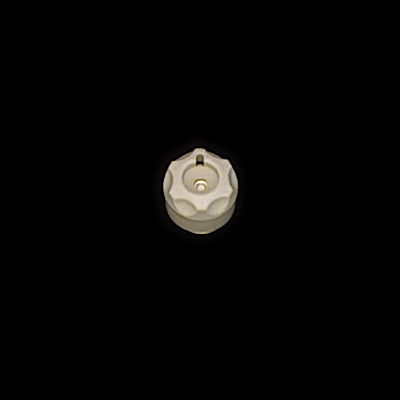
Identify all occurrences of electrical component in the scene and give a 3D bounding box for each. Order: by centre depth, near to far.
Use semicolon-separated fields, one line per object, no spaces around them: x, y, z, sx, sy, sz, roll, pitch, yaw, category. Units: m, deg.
0.000;0.000;0.633;0.043;0.043;0.062;0;-26;0;electrical component
